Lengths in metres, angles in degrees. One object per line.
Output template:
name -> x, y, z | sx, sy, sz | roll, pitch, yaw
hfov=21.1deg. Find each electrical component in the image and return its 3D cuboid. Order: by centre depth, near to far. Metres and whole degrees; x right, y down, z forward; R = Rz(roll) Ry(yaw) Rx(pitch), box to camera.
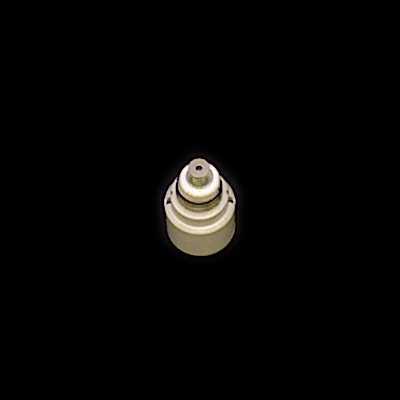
electrical component -> 0.000, 0.000, 0.618 | 0.040, 0.040, 0.078 | 0, -27, 1
